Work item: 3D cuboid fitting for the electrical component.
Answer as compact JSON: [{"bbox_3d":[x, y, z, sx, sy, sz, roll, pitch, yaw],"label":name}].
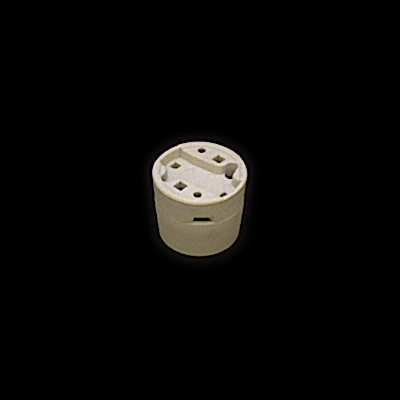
[{"bbox_3d":[0.000,0.000,0.636,0.055,0.047,0.055,0,42,0],"label":"electrical component"}]
